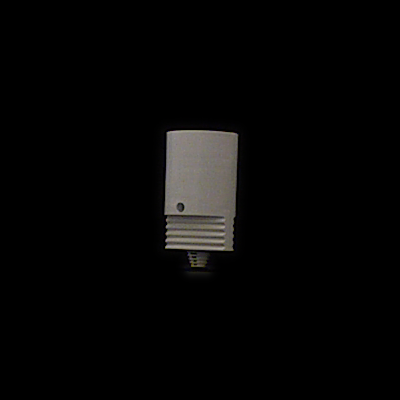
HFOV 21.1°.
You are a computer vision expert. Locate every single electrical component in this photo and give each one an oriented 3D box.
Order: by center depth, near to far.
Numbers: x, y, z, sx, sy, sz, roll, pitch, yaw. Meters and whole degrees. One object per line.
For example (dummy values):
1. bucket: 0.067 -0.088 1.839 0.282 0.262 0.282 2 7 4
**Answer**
1. electrical component: 0.000 0.000 0.651 0.043 0.081 0.043 1 2 0
